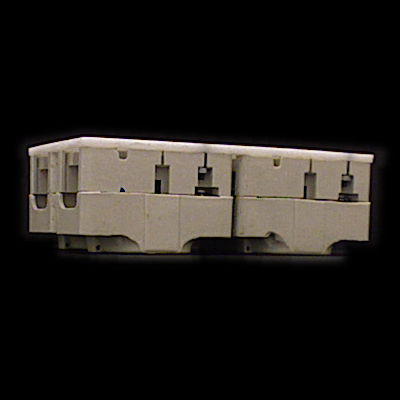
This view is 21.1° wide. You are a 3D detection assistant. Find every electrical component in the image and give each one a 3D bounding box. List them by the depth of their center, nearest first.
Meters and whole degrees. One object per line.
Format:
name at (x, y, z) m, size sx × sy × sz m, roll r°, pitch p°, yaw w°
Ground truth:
electrical component at (0.000, 0.000, 0.649) m, size 0.187 × 0.060 × 0.105 m, roll 2°, pitch 0°, yaw -25°
